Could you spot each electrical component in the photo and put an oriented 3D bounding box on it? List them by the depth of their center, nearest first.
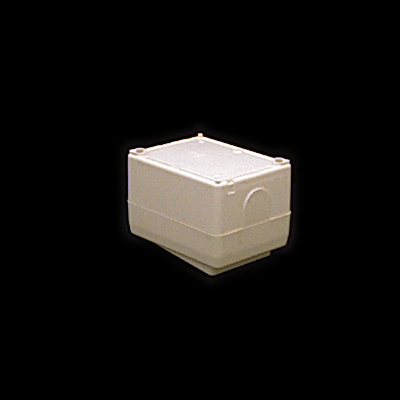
[{"bbox_3d":[0.000,0.000,0.642,0.061,0.061,0.095,-18,27,-40],"label":"electrical component"}]
